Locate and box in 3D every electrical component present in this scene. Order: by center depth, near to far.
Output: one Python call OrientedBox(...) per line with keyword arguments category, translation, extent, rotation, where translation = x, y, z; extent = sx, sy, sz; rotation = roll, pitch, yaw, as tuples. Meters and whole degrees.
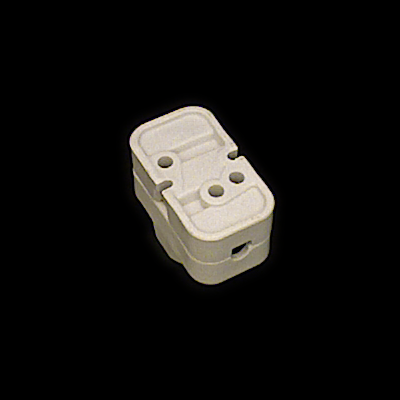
OrientedBox(category="electrical component", translation=(0.000, 0.000, 0.637), extent=(0.054, 0.094, 0.059), rotation=(-24, -34, -17))
